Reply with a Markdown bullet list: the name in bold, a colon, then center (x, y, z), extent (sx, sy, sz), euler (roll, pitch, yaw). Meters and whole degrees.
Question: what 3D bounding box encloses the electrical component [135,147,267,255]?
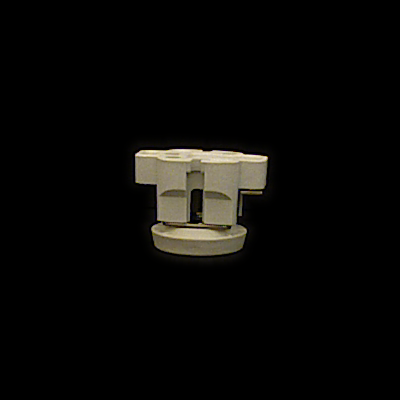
- **electrical component**: center (0.000, 0.000, 0.652), extent (0.078, 0.057, 0.057), euler (4, 11, 6)
